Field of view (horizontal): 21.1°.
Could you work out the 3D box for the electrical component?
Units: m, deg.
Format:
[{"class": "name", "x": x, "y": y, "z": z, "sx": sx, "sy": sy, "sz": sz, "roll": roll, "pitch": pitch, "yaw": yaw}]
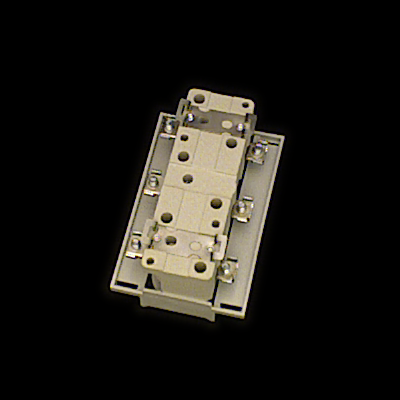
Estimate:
[{"class": "electrical component", "x": 0.000, "y": 0.000, "z": 0.634, "sx": 0.078, "sy": 0.121, "sz": 0.063, "roll": 12, "pitch": -26, "yaw": 5}]
